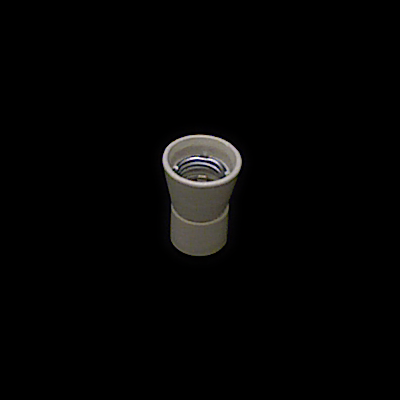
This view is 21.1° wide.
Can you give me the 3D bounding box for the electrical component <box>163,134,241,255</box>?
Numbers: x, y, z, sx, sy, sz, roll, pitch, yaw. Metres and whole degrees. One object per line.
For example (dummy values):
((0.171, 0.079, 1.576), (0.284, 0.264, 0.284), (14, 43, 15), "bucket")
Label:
((0.000, 0.000, 0.629), (0.044, 0.066, 0.044), (1, 42, -1), "electrical component")
